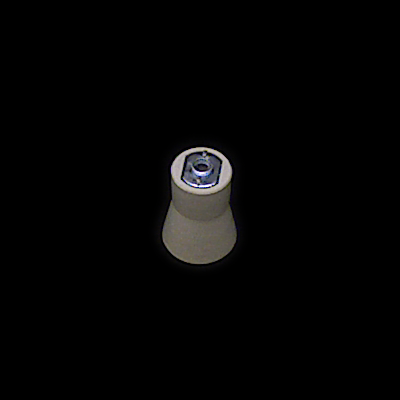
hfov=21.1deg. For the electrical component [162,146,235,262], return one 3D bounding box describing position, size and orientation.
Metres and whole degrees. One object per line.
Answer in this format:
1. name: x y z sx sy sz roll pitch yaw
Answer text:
1. electrical component: 0.000 0.000 0.626 0.044 0.044 0.065 0 -38 -2
